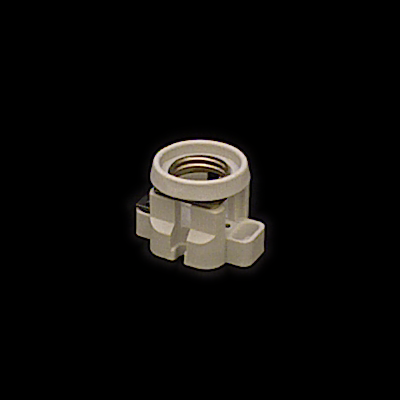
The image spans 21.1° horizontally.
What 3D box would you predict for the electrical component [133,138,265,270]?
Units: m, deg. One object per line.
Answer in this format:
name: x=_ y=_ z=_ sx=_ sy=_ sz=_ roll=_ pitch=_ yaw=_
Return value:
electrical component: x=0.000 y=0.000 z=0.635 sx=0.078 sy=0.057 sz=0.057 roll=16 pitch=35 yaw=23
